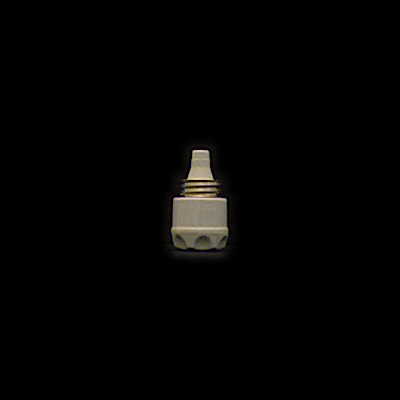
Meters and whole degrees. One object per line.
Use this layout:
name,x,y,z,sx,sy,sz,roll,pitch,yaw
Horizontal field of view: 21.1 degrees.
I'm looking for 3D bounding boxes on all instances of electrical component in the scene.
electrical component,0.000,0.000,0.661,0.035,0.061,0.035,1,0,0
